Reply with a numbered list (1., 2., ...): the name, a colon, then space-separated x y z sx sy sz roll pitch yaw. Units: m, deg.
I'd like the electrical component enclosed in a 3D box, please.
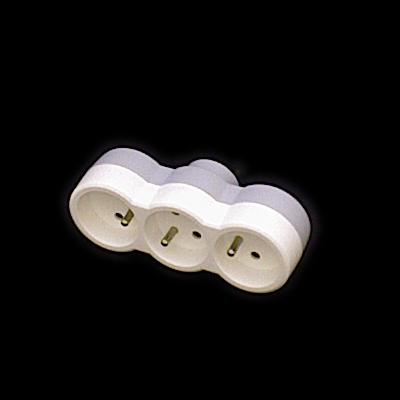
1. electrical component: 0.000 0.000 0.634 0.137 0.052 0.073 15 42 16
